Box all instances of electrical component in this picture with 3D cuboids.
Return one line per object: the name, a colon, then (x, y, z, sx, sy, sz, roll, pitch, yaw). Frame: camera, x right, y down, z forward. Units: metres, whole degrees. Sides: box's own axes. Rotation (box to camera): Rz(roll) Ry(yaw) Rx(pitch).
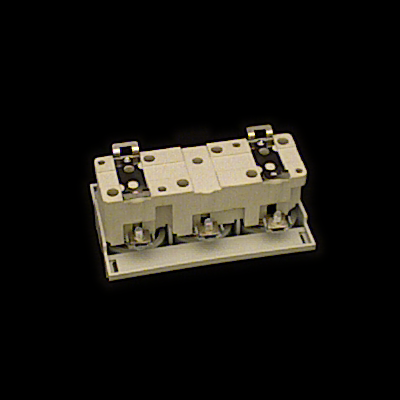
electrical component: (0.000, 0.000, 0.636, 0.122, 0.063, 0.078, -8, 44, -10)
